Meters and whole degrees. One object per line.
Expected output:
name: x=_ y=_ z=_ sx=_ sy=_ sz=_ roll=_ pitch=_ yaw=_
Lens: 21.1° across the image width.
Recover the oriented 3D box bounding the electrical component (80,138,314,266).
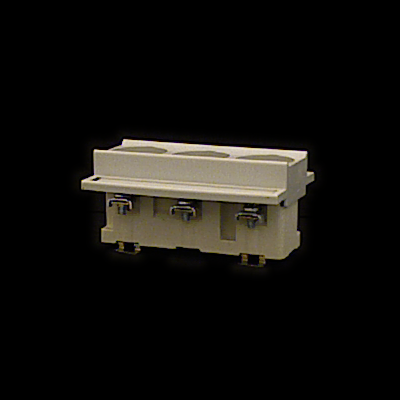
electrical component: x=0.000 y=0.000 z=0.655 sx=0.121 sy=0.063 sz=0.078 roll=5 pitch=13 yaw=20
